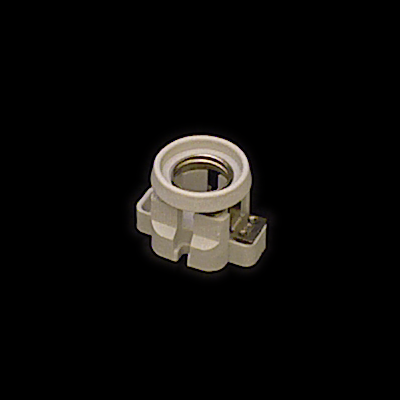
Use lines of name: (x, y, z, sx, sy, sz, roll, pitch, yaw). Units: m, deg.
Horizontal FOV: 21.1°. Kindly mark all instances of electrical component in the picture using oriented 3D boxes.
electrical component: (0.000, 0.000, 0.632, 0.078, 0.057, 0.057, 18, 45, 18)
